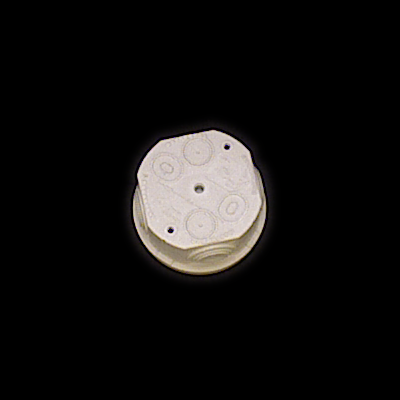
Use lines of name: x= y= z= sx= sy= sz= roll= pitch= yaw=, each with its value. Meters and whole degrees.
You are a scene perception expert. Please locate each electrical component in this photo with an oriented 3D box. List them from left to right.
electrical component: x=0.000 y=0.000 z=0.632 sx=0.080 sy=0.080 sz=0.050 roll=0 pitch=-18 yaw=0
